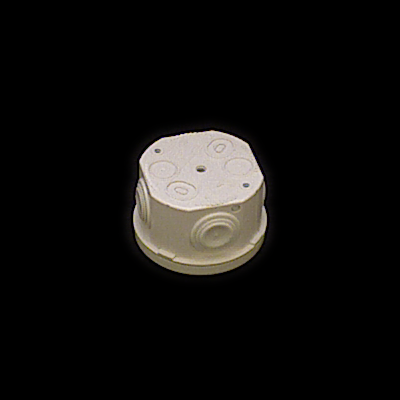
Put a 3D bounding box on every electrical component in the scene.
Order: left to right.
[{"bbox_3d":[0.000,0.000,0.634,0.080,0.051,0.080,1,42,-1],"label":"electrical component"}]
